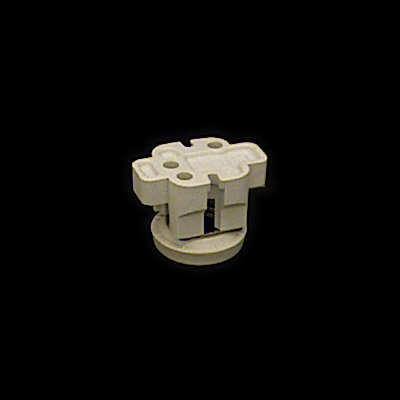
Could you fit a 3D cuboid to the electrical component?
[{"bbox_3d":[0.000,0.000,0.644,0.079,0.057,0.057,-10,33,-20],"label":"electrical component"}]
